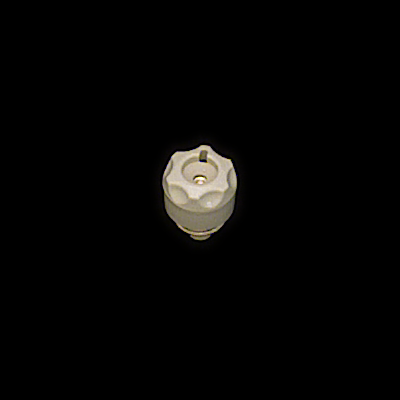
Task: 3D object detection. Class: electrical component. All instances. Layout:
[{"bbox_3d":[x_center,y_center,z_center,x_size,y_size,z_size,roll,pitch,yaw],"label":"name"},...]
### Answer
[{"bbox_3d":[0.000,0.000,0.635,0.043,0.043,0.062,0,-36,0],"label":"electrical component"}]
